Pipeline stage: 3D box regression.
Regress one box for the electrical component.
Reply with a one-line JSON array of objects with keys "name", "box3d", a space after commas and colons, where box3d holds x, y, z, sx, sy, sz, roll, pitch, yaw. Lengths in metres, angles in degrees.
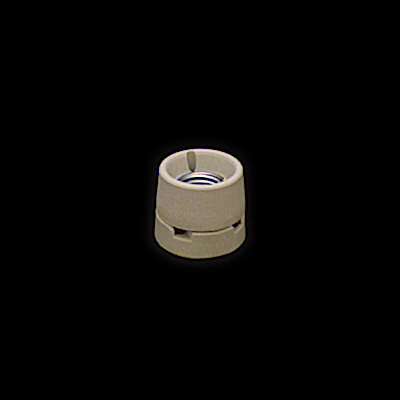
[{"name": "electrical component", "box3d": [0.000, 0.000, 0.639, 0.055, 0.047, 0.055, 1, 30, 0]}]
